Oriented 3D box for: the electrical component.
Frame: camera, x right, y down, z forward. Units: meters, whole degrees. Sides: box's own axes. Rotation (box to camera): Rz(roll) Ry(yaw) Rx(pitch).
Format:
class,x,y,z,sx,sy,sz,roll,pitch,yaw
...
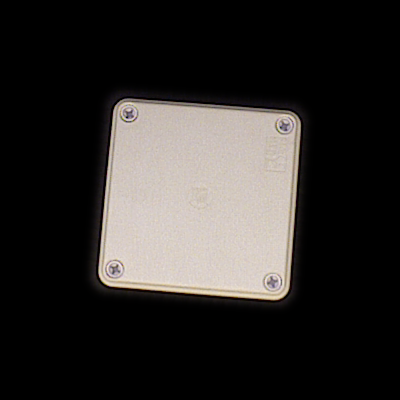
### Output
class,x,y,z,sx,sy,sz,roll,pitch,yaw
electrical component,0.000,0.000,0.631,0.109,0.109,0.056,5,-7,1
